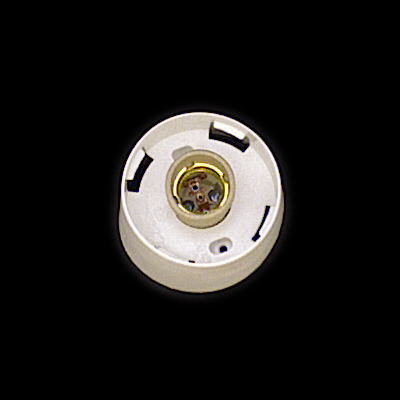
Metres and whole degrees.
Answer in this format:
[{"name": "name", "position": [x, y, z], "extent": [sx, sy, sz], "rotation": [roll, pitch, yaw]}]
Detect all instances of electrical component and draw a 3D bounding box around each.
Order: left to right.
[{"name": "electrical component", "position": [0.000, 0.000, 0.625], "extent": [0.099, 0.099, 0.064], "rotation": [0, -17, 0]}]
